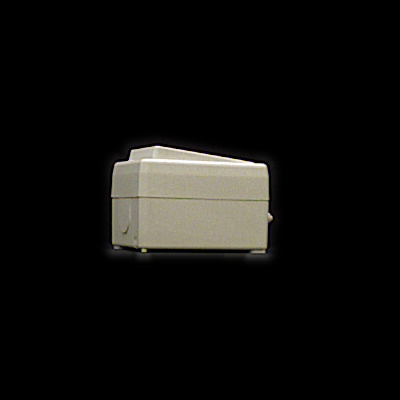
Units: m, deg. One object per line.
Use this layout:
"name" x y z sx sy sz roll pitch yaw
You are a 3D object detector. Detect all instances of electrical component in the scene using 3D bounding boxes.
"electrical component" 0.000 0.000 0.650 0.096 0.061 0.061 1 0 -21
